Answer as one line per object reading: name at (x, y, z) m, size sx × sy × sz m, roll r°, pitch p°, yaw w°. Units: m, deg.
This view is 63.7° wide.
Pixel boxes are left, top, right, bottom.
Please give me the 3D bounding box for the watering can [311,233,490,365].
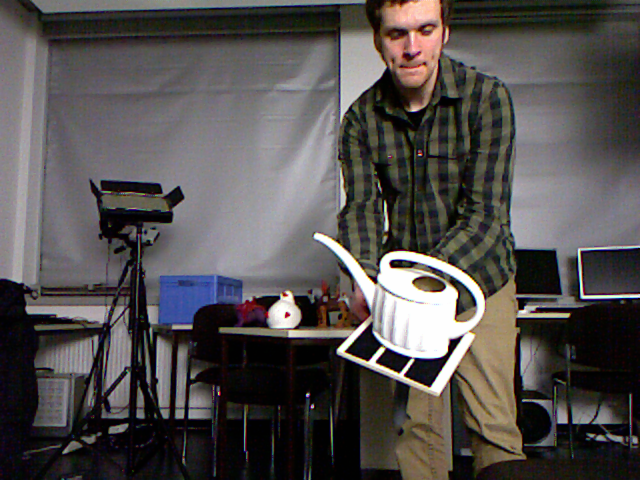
watering can at (0.138, 0.110, 0.980) m, size 0.350 × 0.220 × 0.106 m, roll 17°, pitch 32°, yaw 20°
